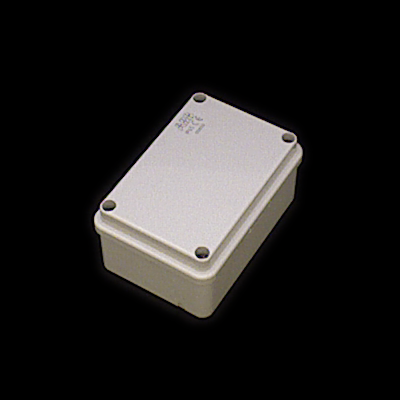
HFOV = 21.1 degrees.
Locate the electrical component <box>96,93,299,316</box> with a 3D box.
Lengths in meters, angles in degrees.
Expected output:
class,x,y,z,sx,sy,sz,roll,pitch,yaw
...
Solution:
class,x,y,z,sx,sy,sz,roll,pitch,yaw
electrical component,0.000,0.000,0.629,0.078,0.113,0.057,26,-33,18
